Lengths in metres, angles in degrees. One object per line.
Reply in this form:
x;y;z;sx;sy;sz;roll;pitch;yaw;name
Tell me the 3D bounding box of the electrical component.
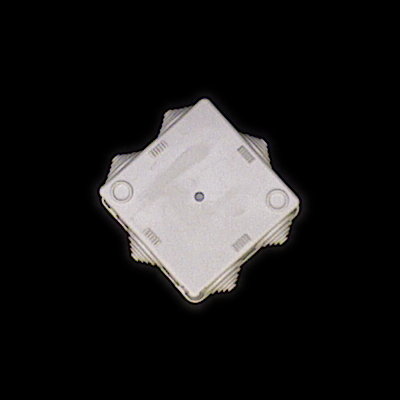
0.000;0.000;0.632;0.100;0.100;0.048;-42;-5;-4;electrical component
